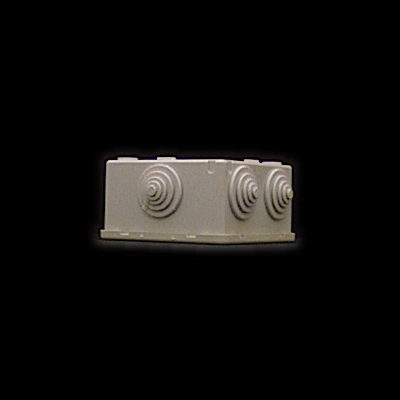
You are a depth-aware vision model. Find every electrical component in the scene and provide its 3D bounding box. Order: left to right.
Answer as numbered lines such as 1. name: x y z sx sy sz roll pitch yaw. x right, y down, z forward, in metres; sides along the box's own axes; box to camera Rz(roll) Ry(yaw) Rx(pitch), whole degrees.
1. electrical component: 0.000 0.000 0.648 0.099 0.048 0.100 1 0 33
